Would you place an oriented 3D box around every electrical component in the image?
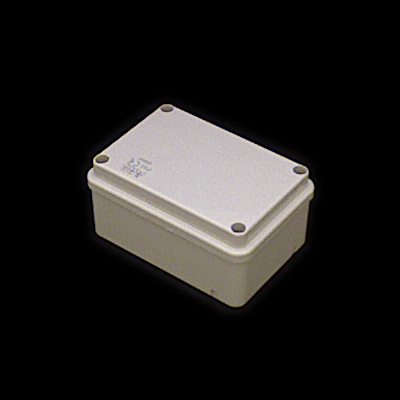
[{"bbox_3d":[0.000,0.000,0.629,0.112,0.057,0.078,27,48,25],"label":"electrical component"}]
